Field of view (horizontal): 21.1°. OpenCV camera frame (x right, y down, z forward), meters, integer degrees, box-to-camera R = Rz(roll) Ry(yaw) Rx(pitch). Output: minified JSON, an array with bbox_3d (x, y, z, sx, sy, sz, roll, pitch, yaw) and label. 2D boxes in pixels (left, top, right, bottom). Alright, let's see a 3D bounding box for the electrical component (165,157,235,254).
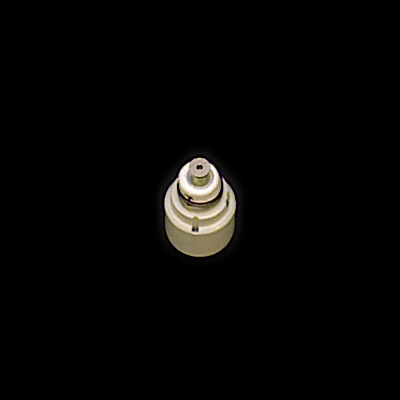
[{"bbox_3d":[0.000,0.000,0.618,0.040,0.040,0.078,0,-28,0],"label":"electrical component"}]
